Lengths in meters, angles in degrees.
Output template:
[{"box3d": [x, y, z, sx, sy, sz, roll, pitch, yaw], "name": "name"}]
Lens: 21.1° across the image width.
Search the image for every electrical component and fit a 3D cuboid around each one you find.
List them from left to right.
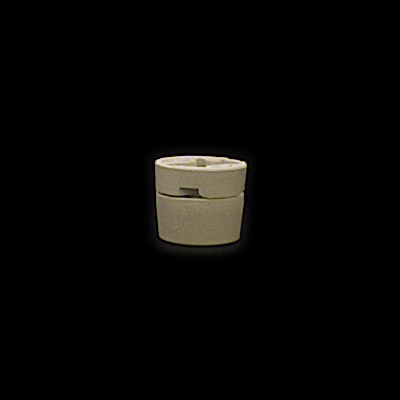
[{"box3d": [0.000, 0.000, 0.648, 0.055, 0.047, 0.055, 1, 11, 0], "name": "electrical component"}]
